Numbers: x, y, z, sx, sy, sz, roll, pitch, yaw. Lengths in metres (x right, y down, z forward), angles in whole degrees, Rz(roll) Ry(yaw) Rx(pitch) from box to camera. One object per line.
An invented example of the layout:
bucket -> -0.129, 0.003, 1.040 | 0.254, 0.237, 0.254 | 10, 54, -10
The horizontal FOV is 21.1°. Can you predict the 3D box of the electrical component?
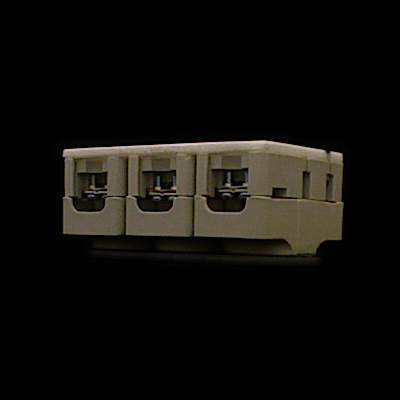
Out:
electrical component -> 0.000, 0.000, 0.657 | 0.150, 0.062, 0.089 | 1, 0, 36
